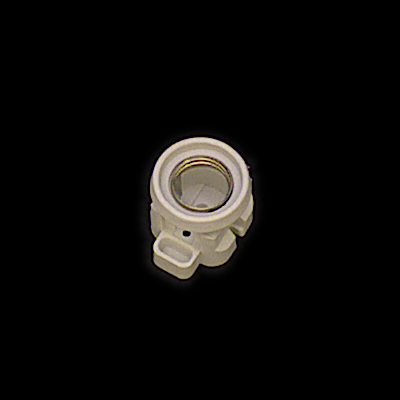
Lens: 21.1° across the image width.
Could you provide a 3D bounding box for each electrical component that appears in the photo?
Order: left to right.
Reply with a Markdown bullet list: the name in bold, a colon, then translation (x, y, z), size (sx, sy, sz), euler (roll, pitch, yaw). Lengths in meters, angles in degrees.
- **electrical component**: translation (0.000, 0.000, 0.629), size (0.058, 0.078, 0.057), euler (28, -24, 13)
